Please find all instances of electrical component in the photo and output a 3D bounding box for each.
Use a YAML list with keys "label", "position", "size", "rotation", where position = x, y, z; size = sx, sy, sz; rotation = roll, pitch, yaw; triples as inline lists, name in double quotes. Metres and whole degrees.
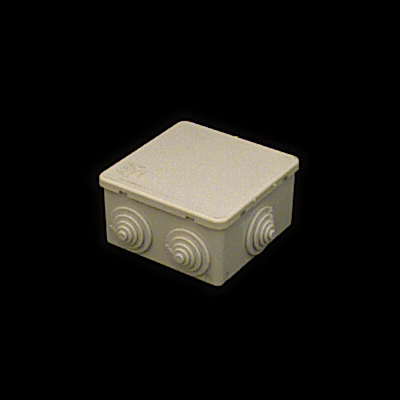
- label: "electrical component"
  position: [0.000, 0.000, 0.643]
  size: [0.098, 0.049, 0.100]
  rotation: [21, 37, 28]
